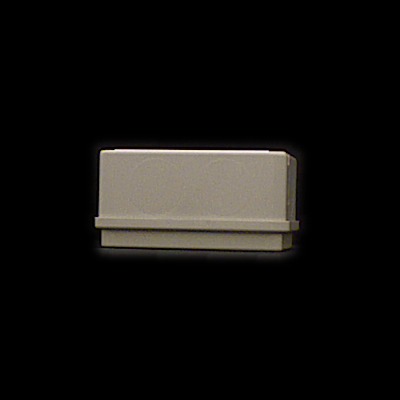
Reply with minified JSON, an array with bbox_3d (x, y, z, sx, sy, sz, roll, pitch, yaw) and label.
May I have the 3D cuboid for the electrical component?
[{"bbox_3d":[0.000,0.000,0.649,0.113,0.057,0.078,1,0,10],"label":"electrical component"}]
